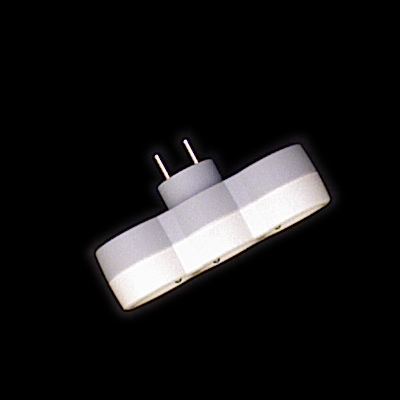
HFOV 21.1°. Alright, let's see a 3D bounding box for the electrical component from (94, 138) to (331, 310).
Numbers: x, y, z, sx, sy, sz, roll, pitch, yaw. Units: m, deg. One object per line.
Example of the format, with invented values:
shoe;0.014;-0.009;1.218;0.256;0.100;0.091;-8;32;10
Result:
electrical component;0.000;0.000;0.631;0.138;0.074;0.052;-28;-8;-3
